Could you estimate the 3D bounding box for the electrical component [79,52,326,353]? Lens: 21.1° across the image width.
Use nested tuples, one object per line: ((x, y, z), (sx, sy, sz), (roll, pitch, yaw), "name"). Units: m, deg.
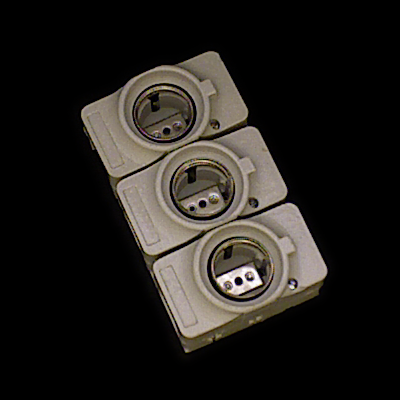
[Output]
((0.000, 0.000, 0.631), (0.089, 0.150, 0.062), (-24, -15, -7), "electrical component")
